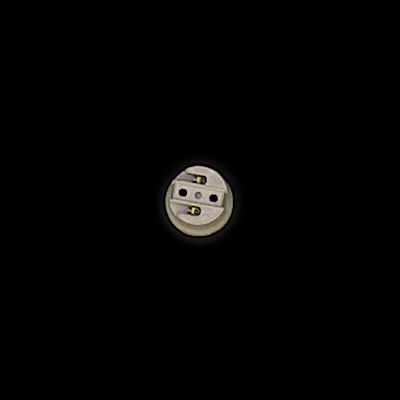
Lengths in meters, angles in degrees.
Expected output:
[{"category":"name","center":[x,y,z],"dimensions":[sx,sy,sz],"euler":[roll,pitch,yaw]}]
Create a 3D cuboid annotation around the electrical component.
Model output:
[{"category":"electrical component","center":[0.000,0.000,0.634],"dimensions":[0.040,0.040,0.046],"euler":[0,-6,0]}]
